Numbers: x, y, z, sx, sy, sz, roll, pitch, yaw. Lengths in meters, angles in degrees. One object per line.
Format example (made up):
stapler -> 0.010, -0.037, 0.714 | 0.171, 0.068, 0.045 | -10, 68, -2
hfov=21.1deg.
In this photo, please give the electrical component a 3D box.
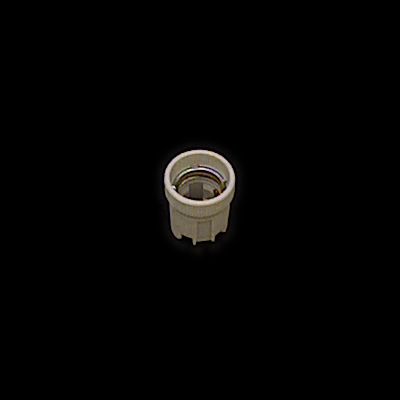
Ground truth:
electrical component -> 0.000, 0.000, 0.629 | 0.040, 0.040, 0.046 | 0, -38, -1
